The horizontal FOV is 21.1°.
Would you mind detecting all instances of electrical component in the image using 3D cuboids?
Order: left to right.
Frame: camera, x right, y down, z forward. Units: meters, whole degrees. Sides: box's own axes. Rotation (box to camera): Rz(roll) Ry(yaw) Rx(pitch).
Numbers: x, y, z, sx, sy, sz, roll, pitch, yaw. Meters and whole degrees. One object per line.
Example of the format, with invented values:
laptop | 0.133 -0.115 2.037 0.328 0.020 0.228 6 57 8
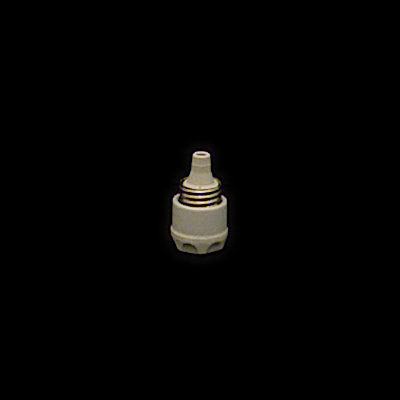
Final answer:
electrical component | 0.000 0.000 0.653 0.035 0.062 0.034 2 23 0
